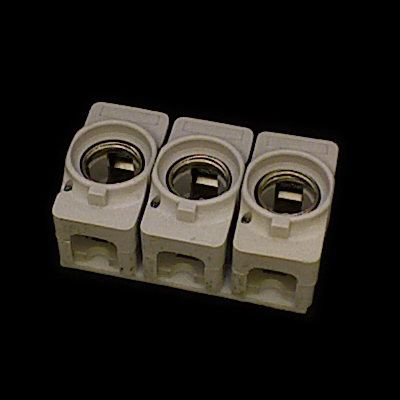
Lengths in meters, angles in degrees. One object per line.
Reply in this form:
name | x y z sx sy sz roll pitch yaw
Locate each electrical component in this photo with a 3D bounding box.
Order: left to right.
electrical component | 0.000 0.000 0.633 0.150 0.088 0.062 10 -37 7
